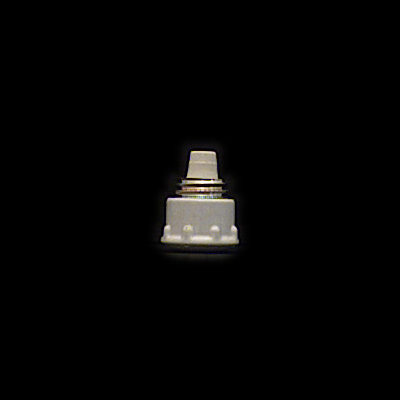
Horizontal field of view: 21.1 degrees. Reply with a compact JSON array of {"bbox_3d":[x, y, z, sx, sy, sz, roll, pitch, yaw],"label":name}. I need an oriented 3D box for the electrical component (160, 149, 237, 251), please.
[{"bbox_3d":[0.000,0.000,0.658,0.048,0.062,0.048,2,1,0],"label":"electrical component"}]
